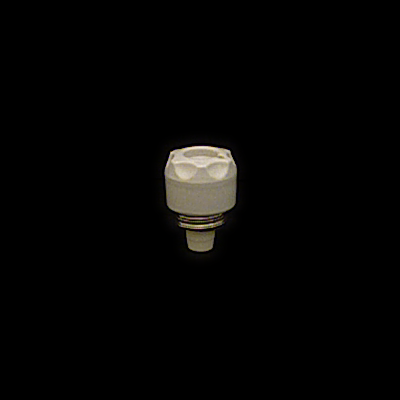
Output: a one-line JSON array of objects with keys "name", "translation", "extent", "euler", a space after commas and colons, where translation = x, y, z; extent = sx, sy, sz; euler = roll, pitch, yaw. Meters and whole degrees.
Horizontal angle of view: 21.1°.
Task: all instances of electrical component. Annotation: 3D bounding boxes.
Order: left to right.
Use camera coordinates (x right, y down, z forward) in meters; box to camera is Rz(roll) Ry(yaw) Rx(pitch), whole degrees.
[{"name": "electrical component", "translation": [0.000, 0.000, 0.646], "extent": [0.043, 0.063, 0.043], "euler": [0, 22, 1]}]
